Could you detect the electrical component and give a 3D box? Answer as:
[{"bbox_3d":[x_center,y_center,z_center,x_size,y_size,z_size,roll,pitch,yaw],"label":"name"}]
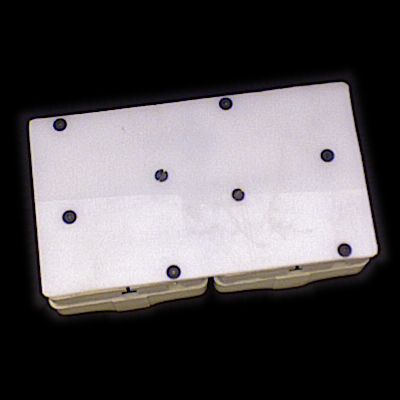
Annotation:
[{"bbox_3d":[0.000,0.000,0.625,0.186,0.106,0.060,-7,-17,-2],"label":"electrical component"}]
